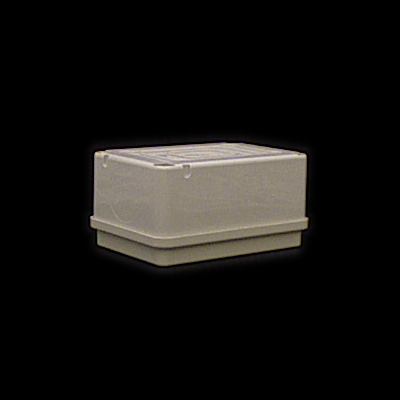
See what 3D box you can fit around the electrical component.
[{"bbox_3d":[0.000,0.000,0.645,0.113,0.057,0.077,-6,12,-37],"label":"electrical component"}]
